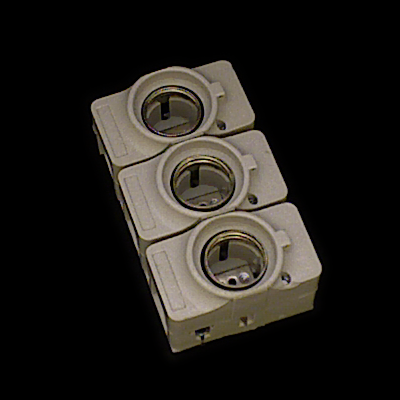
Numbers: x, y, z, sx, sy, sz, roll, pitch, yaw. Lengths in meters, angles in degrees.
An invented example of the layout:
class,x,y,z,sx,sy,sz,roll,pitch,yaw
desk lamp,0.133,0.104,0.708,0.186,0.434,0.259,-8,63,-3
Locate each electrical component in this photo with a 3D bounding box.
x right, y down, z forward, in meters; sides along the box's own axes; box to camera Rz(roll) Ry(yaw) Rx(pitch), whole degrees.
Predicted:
class,x,y,z,sx,sy,sz,roll,pitch,yaw
electrical component,0.000,0.000,0.632,0.089,0.149,0.062,-18,-25,-10
